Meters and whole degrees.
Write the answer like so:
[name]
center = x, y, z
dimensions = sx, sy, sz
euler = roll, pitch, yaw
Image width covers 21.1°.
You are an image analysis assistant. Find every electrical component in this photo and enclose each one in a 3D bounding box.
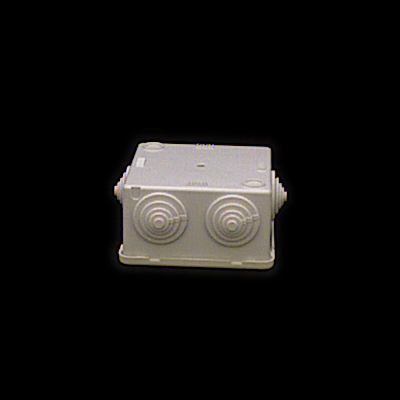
[electrical component]
center = 0.000, 0.000, 0.640
dimensions = 0.100, 0.049, 0.098
euler = 2, 21, 2
